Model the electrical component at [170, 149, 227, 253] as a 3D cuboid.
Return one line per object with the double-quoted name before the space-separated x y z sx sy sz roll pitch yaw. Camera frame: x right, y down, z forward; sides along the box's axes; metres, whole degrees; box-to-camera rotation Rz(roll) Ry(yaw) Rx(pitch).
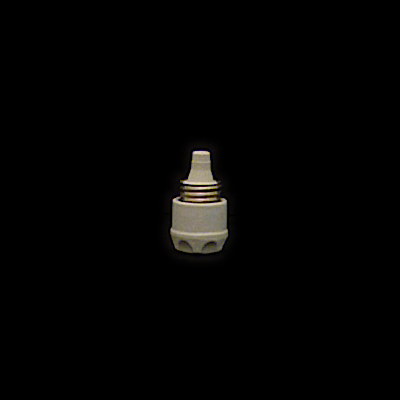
"electrical component" 0.000 0.000 0.656 0.035 0.062 0.035 2 11 0
